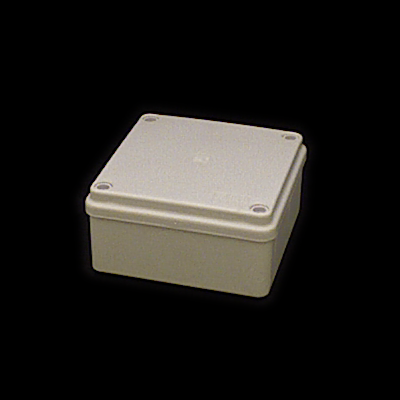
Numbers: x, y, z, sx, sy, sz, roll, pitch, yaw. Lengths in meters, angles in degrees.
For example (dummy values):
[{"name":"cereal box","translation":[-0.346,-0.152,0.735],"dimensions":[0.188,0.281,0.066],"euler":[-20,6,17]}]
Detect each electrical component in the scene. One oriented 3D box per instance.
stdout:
[{"name":"electrical component","translation":[0.000,0.000,0.637],"dimensions":[0.108,0.057,0.107],"euler":[9,32,12]}]
